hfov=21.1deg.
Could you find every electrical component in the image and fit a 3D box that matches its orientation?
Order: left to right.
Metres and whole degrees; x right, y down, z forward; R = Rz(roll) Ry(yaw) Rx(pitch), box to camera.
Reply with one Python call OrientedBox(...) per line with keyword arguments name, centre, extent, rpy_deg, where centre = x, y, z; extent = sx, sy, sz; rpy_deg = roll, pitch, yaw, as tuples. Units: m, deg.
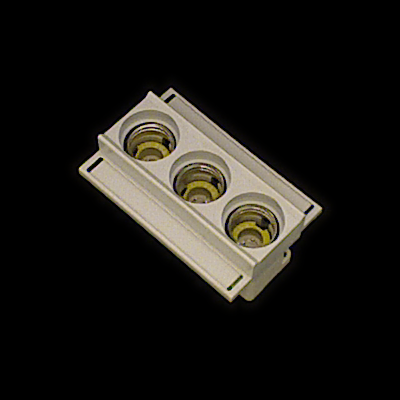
OrientedBox(name="electrical component", centre=(0.000, 0.000, 0.638), extent=(0.121, 0.079, 0.063), rpy_deg=(40, -21, 18))
